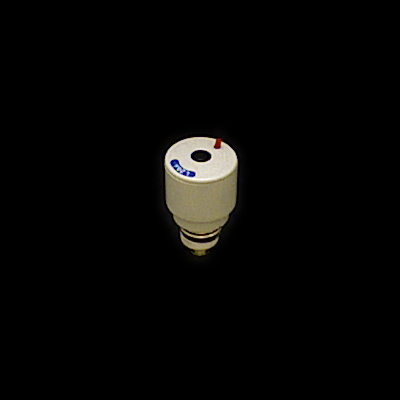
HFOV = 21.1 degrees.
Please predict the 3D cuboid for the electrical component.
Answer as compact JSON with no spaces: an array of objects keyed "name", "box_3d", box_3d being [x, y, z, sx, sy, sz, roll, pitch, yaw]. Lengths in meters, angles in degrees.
[{"name":"electrical component","box_3d":[0.000,0.000,0.625,0.040,0.079,0.039,1,41,0]}]
